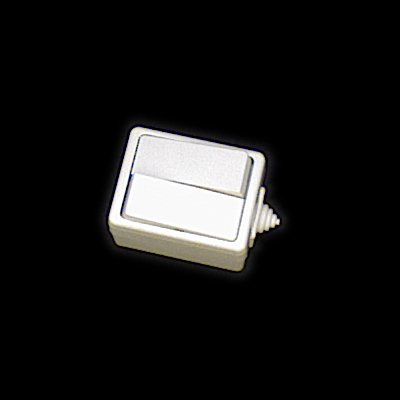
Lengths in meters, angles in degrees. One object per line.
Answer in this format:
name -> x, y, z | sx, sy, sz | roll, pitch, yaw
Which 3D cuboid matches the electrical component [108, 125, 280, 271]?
electrical component -> 0.000, 0.000, 0.626 | 0.096, 0.062, 0.060 | 12, -16, 4
